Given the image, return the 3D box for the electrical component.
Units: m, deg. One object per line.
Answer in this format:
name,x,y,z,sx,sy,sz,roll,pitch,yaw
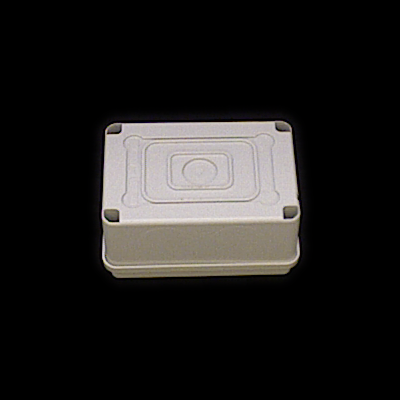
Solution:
electrical component,0.000,0.000,0.629,0.113,0.078,0.057,-1,-38,-1
